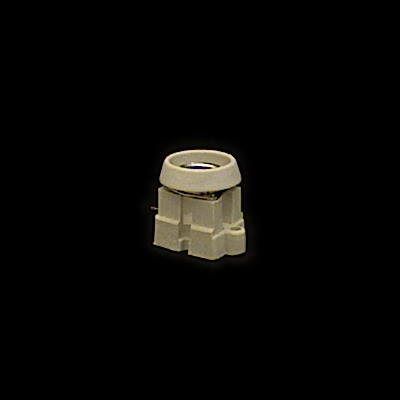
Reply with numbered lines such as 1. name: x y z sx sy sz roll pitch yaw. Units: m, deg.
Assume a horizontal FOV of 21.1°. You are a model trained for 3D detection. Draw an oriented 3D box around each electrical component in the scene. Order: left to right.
1. electrical component: 0.000 0.000 0.646 0.066 0.056 0.048 13 23 27
